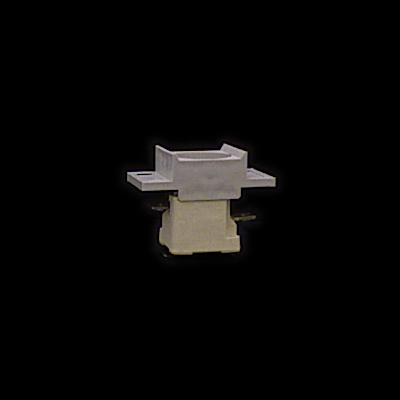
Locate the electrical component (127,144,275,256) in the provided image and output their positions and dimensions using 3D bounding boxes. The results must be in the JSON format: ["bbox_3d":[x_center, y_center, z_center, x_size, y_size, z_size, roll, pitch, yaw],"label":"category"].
[{"bbox_3d":[0.000,0.000,0.645,0.081,0.064,0.042,-2,11,-15],"label":"electrical component"}]
